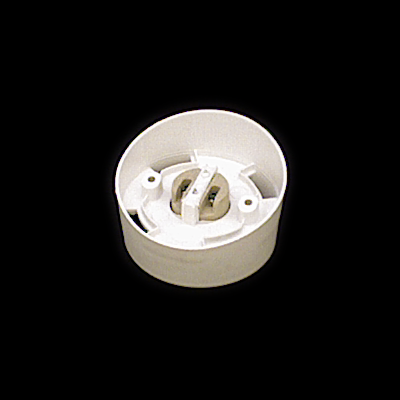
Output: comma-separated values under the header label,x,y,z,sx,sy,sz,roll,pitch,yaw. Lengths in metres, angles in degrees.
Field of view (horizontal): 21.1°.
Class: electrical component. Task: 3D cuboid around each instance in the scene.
label,x,y,z,sx,sy,sz,roll,pitch,yaw
electrical component,0.000,0.000,0.630,0.099,0.065,0.097,0,41,0
